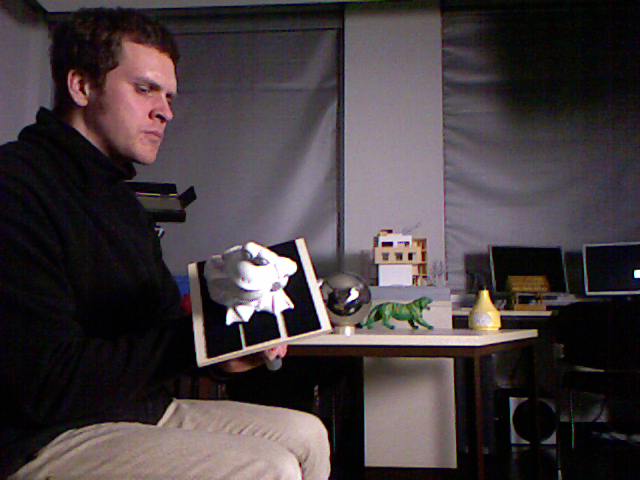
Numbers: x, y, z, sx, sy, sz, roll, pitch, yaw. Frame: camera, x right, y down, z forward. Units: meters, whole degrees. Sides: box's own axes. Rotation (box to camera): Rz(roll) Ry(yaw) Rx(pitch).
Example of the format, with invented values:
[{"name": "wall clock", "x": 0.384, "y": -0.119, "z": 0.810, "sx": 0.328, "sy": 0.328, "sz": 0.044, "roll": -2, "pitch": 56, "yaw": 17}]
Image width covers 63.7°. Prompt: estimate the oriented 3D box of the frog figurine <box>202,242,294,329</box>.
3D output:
[{"name": "frog figurine", "x": -0.109, "y": 0.045, "z": 0.764, "sx": 0.138, "sy": 0.126, "sz": 0.156, "roll": 1, "pitch": -43, "yaw": 6}]
